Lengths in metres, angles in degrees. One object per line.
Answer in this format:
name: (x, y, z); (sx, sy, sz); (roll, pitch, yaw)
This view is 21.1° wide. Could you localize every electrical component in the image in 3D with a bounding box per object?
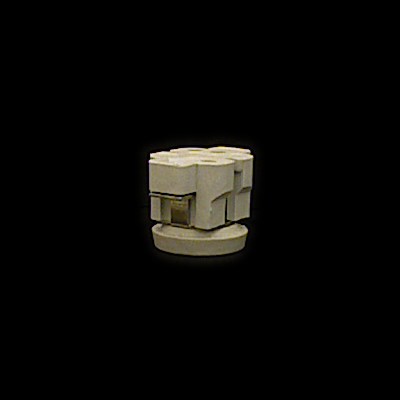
electrical component: (0.000, 0.000, 0.649); (0.057, 0.057, 0.079); (9, 15, 31)
